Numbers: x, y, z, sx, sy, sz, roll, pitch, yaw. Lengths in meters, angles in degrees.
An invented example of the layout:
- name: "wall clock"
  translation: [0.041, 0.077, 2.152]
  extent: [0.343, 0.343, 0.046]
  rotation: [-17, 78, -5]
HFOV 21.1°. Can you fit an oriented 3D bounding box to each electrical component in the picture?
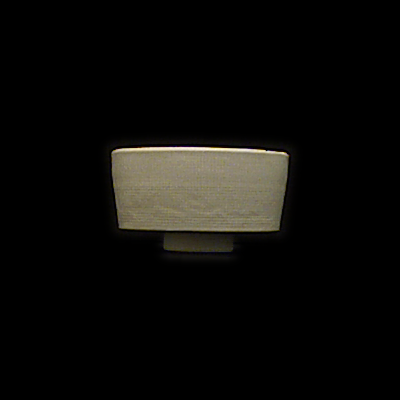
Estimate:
- name: "electrical component"
  translation: [0.000, 0.000, 0.657]
  extent: [0.108, 0.060, 0.108]
  rotation: [1, 0, 0]
